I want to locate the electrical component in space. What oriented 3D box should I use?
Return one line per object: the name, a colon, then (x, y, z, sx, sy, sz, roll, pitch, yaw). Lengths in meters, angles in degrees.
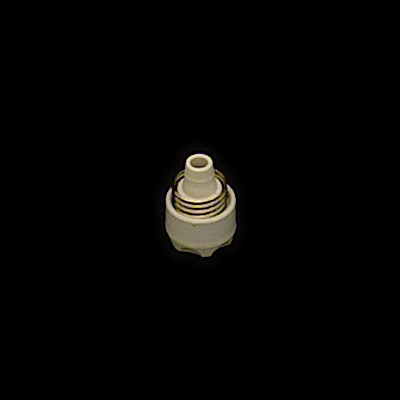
electrical component: (0.000, 0.000, 0.637, 0.043, 0.062, 0.043, 0, 43, 1)
